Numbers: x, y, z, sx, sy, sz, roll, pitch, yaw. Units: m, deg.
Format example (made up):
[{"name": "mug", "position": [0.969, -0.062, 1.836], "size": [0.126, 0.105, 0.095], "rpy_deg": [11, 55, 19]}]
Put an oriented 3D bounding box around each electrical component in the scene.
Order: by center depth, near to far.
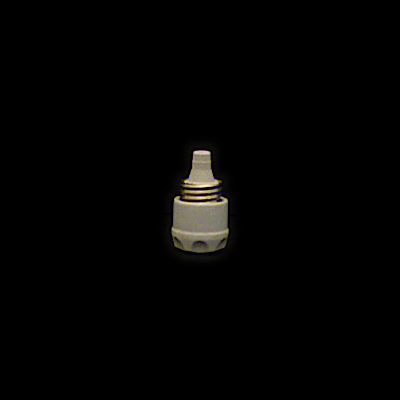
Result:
[{"name": "electrical component", "position": [0.000, 0.000, 0.658], "size": [0.035, 0.062, 0.035], "rpy_deg": [1, 14, 0]}]
